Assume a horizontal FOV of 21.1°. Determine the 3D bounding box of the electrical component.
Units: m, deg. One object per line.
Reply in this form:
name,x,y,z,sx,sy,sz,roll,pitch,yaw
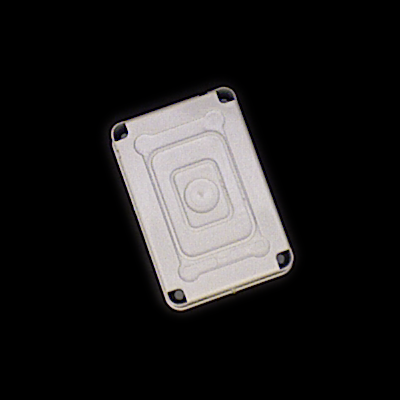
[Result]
electrical component,0.000,0.000,0.628,0.078,0.113,0.057,-19,-6,-2
